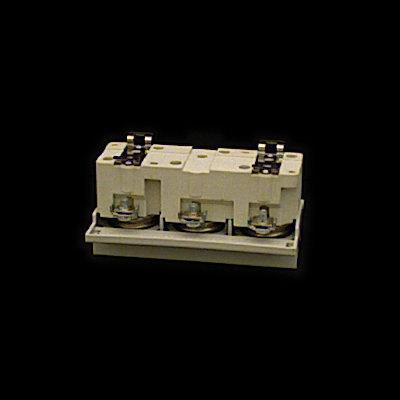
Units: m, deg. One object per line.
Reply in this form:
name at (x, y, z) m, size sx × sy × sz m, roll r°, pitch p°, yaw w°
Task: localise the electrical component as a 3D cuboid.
electrical component at (0.000, 0.000, 0.643) m, size 0.121 × 0.064 × 0.078 m, roll 4°, pitch 22°, yaw 7°
